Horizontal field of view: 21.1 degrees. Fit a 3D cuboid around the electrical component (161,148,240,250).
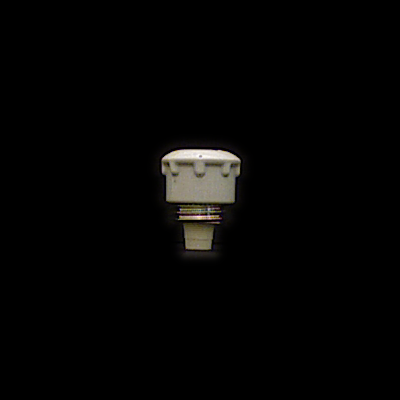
[{"bbox_3d":[0.000,0.000,0.658,0.048,0.062,0.048,1,2,0],"label":"electrical component"}]
